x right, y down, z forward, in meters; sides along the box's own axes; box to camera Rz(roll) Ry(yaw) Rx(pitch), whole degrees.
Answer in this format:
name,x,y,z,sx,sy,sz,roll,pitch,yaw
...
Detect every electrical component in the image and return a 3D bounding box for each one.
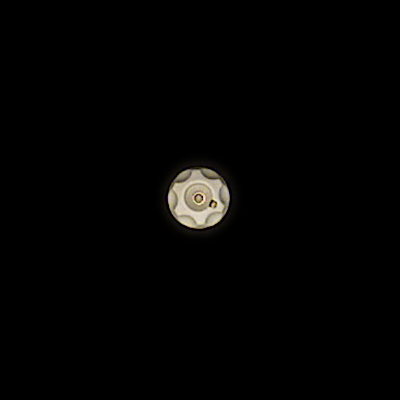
name,x,y,z,sx,sy,sz,roll,pitch,yaw
electrical component,0.000,0.000,0.634,0.035,0.035,0.061,0,-5,1
